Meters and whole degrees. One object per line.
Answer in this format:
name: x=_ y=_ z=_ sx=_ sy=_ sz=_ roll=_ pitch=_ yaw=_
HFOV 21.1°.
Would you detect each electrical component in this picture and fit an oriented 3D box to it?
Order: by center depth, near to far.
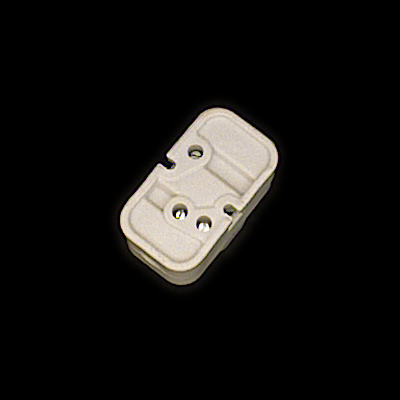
electrical component: x=0.000 y=0.000 z=0.635 sx=0.053 sy=0.095 sz=0.059 roll=37 pitch=-13 yaw=10
